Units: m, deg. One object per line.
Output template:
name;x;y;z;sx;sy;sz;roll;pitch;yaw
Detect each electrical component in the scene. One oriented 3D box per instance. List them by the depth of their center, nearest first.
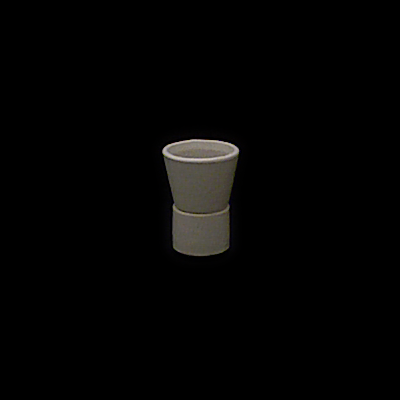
electrical component;0.000;0.000;0.639;0.044;0.066;0.044;0;21;0
